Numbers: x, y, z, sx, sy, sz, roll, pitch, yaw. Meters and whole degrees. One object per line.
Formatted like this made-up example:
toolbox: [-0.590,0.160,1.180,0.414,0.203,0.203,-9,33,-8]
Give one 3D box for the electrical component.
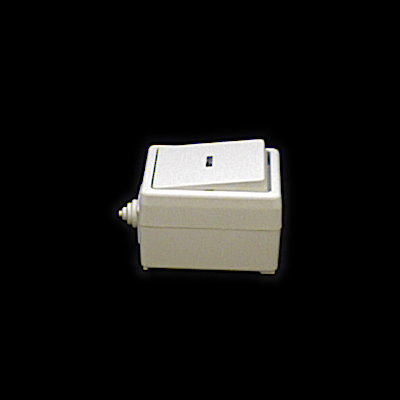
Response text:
electrical component: [0.000,0.000,0.634,0.096,0.061,0.061,2,31,1]
